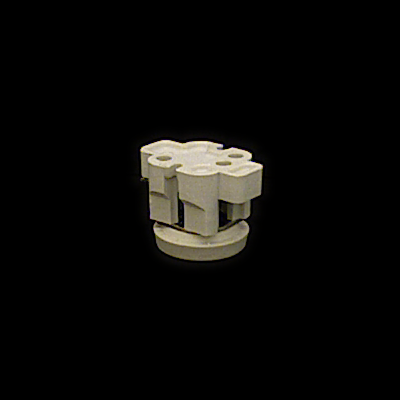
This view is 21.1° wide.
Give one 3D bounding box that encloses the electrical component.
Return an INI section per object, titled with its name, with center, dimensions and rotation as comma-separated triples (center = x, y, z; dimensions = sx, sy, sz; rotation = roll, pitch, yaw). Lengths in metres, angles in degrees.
[electrical component]
center = 0.000, 0.000, 0.646
dimensions = 0.077, 0.057, 0.058
rotation = 15, 27, 35
